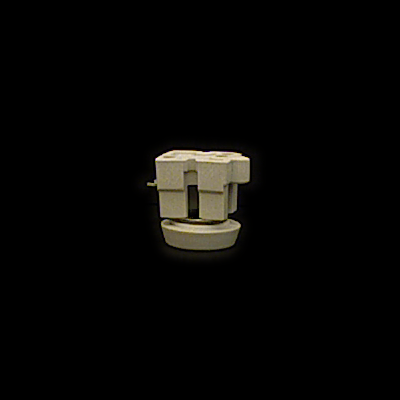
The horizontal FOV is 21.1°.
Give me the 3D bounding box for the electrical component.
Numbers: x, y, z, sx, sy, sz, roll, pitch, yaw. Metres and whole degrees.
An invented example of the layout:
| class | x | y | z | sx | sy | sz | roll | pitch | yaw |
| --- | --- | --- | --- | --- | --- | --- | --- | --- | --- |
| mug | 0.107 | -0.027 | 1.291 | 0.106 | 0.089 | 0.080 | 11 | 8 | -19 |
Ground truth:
| class | x | y | z | sx | sy | sz | roll | pitch | yaw |
| --- | --- | --- | --- | --- | --- | --- | --- | --- | --- |
| electrical component | 0.000 | 0.000 | 0.652 | 0.066 | 0.056 | 0.048 | 4 | 13 | 15 |
